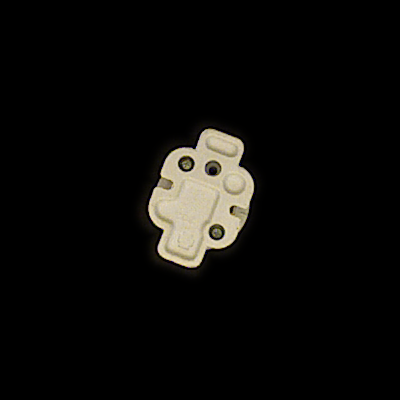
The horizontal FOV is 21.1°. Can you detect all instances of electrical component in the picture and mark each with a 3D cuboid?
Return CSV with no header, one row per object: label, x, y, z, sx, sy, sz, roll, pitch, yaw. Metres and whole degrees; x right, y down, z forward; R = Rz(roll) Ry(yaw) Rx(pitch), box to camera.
electrical component,0.000,0.000,0.637,0.058,0.078,0.056,20,-4,2
